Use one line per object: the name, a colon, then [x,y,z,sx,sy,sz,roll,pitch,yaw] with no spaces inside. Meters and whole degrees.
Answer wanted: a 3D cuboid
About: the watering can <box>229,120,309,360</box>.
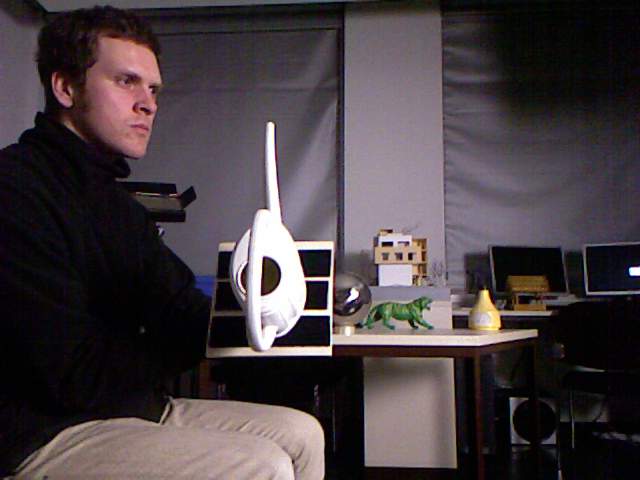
watering can: [-0.074,0.010,0.798,0.104,0.355,0.221,1,-22,7]
